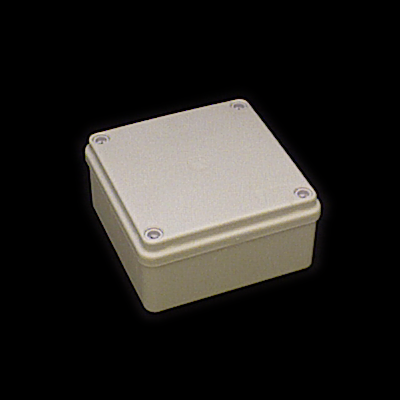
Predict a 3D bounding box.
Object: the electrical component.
[{"bbox_3d":[0.000,0.000,0.633,0.109,0.057,0.107,-15,44,-17],"label":"electrical component"}]
